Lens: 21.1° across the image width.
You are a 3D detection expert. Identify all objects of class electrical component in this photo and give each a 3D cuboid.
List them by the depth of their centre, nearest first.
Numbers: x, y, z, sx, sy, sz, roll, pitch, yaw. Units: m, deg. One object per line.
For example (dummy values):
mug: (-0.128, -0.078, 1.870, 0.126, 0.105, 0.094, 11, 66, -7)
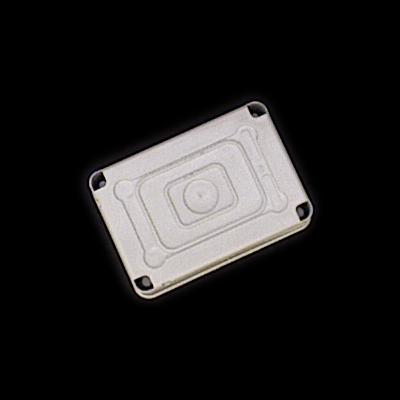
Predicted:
electrical component: (0.000, 0.000, 0.629, 0.113, 0.078, 0.057, -24, -6, -3)
